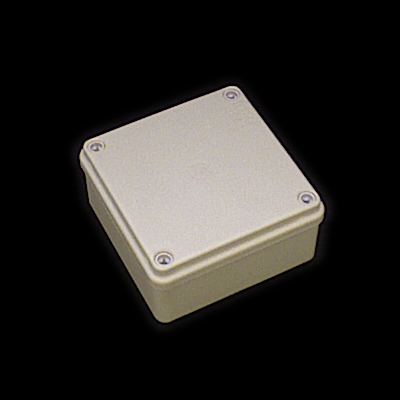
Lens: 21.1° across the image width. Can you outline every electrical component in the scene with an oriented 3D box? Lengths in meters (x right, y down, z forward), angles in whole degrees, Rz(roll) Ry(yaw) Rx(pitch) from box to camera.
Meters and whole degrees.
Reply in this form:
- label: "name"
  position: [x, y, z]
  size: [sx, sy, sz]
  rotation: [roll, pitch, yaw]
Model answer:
- label: "electrical component"
  position: [0.000, 0.000, 0.629]
  size: [0.109, 0.108, 0.056]
  rotation: [-22, -34, -16]
